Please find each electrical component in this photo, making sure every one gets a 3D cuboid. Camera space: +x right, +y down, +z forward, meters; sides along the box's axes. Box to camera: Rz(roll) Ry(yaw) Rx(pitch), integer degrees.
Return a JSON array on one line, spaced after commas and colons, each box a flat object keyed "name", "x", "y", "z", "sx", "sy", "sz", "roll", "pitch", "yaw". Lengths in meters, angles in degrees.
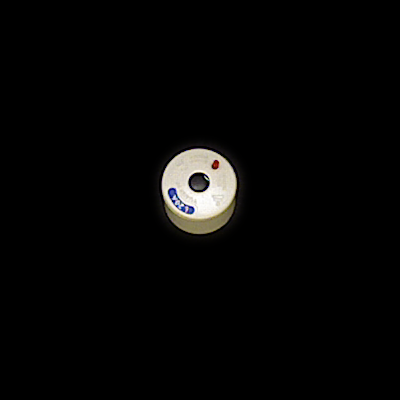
[{"name": "electrical component", "x": 0.000, "y": 0.000, "z": 0.617, "sx": 0.040, "sy": 0.040, "sz": 0.078, "roll": 0, "pitch": -17, "yaw": 0}]
